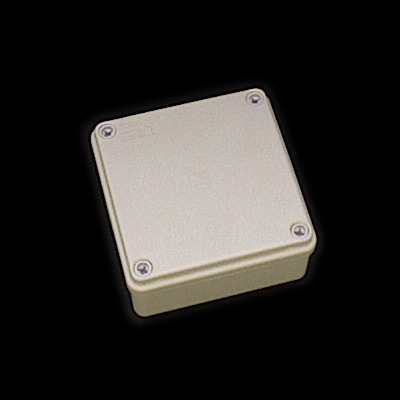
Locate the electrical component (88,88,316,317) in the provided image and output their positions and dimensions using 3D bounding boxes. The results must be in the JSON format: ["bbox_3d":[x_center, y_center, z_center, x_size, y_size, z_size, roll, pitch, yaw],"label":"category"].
[{"bbox_3d":[0.000,0.000,0.629,0.109,0.109,0.056,-13,-26,-7],"label":"electrical component"}]
